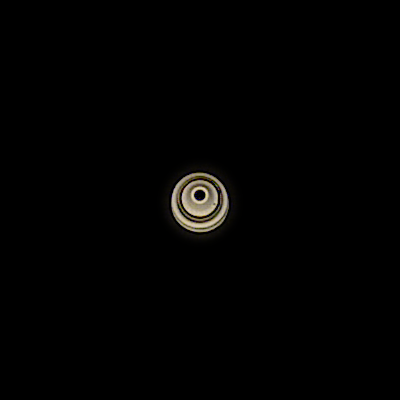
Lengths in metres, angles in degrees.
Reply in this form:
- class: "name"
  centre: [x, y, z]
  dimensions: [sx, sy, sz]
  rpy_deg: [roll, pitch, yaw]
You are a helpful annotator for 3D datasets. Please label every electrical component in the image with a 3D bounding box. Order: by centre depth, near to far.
- class: "electrical component"
  centre: [0.000, 0.000, 0.638]
  dimensions: [0.035, 0.035, 0.061]
  rpy_deg: [0, -6, -1]
